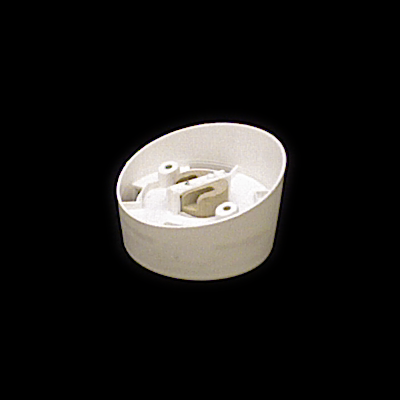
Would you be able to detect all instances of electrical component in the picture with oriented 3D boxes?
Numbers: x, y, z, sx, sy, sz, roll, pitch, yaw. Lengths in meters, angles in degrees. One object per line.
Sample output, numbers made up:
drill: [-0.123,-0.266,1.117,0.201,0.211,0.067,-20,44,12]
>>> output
electrical component: [0.000,0.000,0.634,0.099,0.065,0.097,1,30,0]
